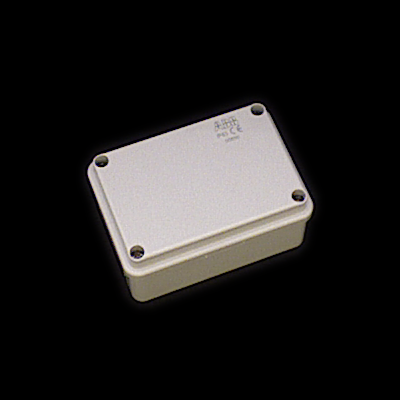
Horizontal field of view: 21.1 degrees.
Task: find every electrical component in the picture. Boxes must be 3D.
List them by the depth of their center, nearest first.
[{"bbox_3d":[0.000,0.000,0.628,0.113,0.078,0.057,-19,-25,-10],"label":"electrical component"}]
